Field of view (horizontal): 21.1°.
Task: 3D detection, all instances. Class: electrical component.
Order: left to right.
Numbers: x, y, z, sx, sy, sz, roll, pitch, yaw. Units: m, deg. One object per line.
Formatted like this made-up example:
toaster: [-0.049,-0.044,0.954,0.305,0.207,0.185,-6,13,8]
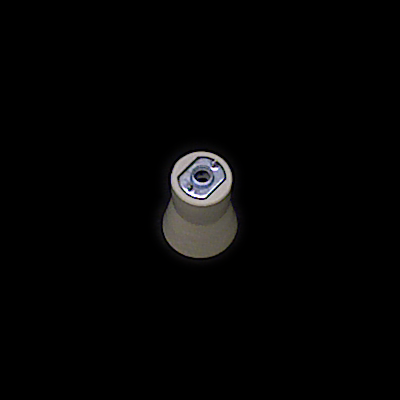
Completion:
electrical component: [0.000,0.000,0.624,0.044,0.044,0.065,0,-27,-1]
